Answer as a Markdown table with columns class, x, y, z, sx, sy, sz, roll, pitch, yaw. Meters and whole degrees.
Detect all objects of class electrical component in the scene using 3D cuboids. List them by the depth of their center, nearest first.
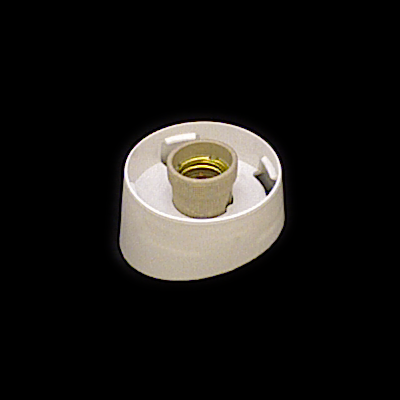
| class | x | y | z | sx | sy | sz | roll | pitch | yaw |
| --- | --- | --- | --- | --- | --- | --- | --- | --- | --- |
| electrical component | 0.000 | 0.000 | 0.630 | 0.099 | 0.065 | 0.098 | 0 | 42 | 0 |
